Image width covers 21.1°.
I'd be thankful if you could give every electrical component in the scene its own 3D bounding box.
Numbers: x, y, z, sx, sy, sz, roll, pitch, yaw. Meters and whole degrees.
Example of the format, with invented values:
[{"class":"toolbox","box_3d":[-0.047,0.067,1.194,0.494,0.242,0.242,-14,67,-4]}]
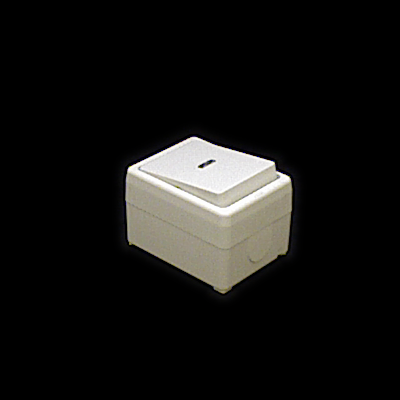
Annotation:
[{"class":"electrical component","box_3d":[0.000,0.000,0.636,0.095,0.061,0.061,25,39,34]}]
